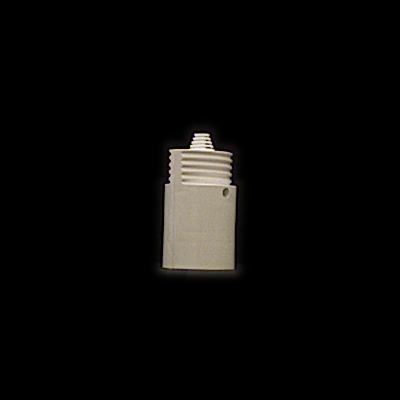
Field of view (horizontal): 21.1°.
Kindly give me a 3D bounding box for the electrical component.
[{"bbox_3d":[0.000,0.000,0.649,0.043,0.081,0.043,1,1,0],"label":"electrical component"}]
